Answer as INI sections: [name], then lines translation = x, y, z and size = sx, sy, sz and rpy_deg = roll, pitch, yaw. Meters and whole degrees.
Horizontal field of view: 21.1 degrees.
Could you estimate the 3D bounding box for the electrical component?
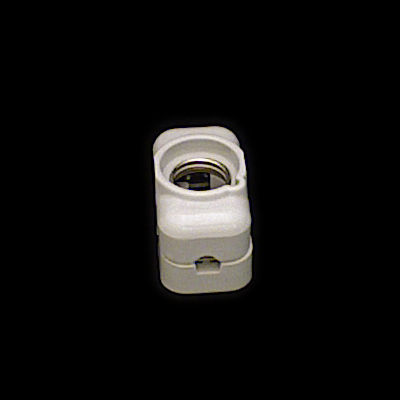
[electrical component]
translation = 0.000, 0.000, 0.638
size = 0.054, 0.060, 0.094
rpy_deg = -3, 43, -4
